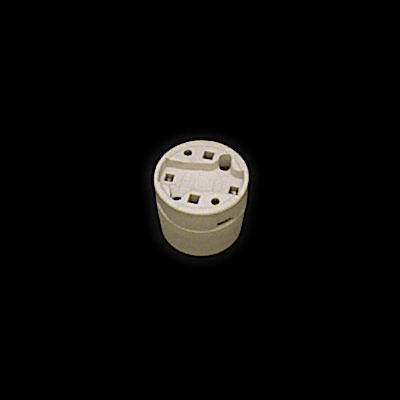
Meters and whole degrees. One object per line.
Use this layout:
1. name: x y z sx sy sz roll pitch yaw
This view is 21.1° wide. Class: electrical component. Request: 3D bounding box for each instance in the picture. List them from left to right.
1. electrical component: 0.000 0.000 0.634 0.055 0.055 0.047 0 -38 -1
